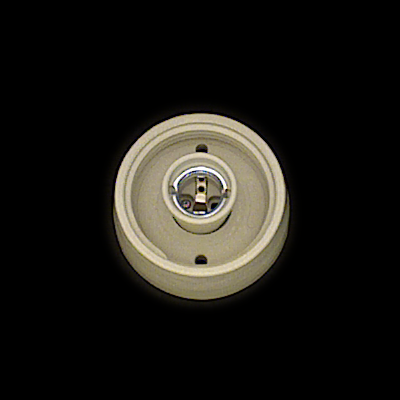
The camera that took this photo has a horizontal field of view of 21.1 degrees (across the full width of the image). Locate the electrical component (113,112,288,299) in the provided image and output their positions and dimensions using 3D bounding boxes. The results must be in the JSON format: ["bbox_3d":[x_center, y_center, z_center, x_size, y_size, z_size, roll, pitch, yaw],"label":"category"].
[{"bbox_3d":[0.000,0.000,0.633,0.108,0.108,0.060,0,-16,0],"label":"electrical component"}]
